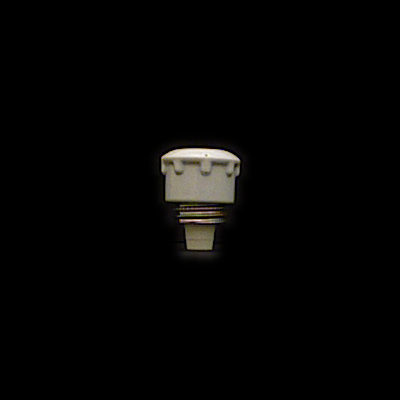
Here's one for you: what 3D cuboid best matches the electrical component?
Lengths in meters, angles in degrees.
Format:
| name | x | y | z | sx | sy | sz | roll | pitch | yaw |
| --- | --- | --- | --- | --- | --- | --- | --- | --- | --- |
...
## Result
| name | x | y | z | sx | sy | sz | roll | pitch | yaw |
| --- | --- | --- | --- | --- | --- | --- | --- | --- | --- |
| electrical component | 0.000 | 0.000 | 0.655 | 0.048 | 0.062 | 0.048 | 1 | 1 | 1 |
